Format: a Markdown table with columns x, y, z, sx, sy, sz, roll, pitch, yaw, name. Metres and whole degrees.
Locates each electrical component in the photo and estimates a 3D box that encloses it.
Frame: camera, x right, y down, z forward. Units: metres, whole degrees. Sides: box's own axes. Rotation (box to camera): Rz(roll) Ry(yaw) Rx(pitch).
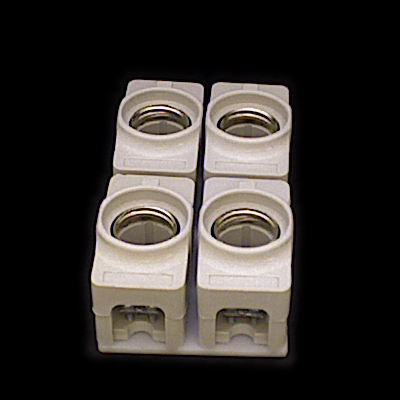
| x | y | z | sx | sy | sz | roll | pitch | yaw | name |
| --- | --- | --- | --- | --- | --- | --- | --- | --- | --- |
| 0.000 | 0.000 | 0.630 | 0.105 | 0.061 | 0.184 | 2 | 42 | 2 | electrical component |
